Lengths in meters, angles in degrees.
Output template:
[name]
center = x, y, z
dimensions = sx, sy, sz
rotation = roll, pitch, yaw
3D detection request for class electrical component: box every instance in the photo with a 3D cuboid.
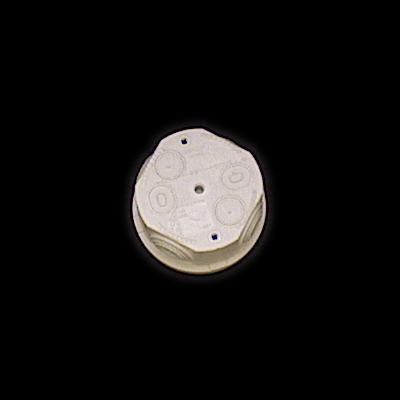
[electrical component]
center = 0.000, 0.000, 0.632
dimensions = 0.080, 0.080, 0.050
rotation = 0, -16, 0
